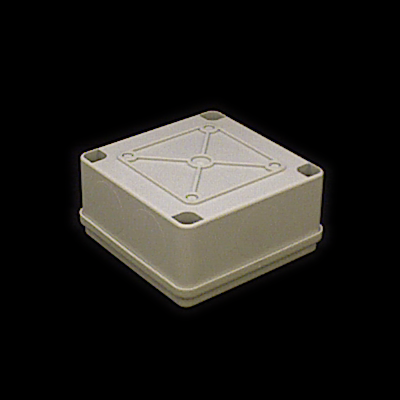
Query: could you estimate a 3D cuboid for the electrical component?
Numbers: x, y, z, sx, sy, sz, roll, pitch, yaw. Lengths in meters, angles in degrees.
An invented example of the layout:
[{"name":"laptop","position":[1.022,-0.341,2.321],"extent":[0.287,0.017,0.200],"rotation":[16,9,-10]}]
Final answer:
[{"name":"electrical component","position":[0.000,0.000,0.637],"extent":[0.108,0.057,0.107],"rotation":[-21,38,-33]}]
